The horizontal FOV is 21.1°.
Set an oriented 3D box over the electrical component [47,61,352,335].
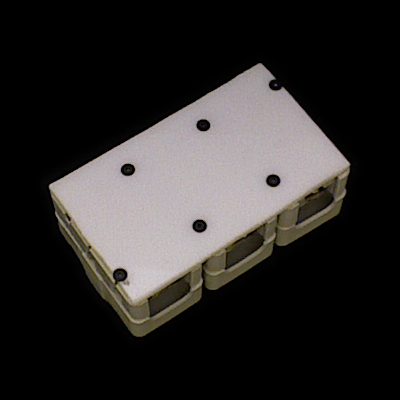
[{"bbox_3d":[0.000,0.000,0.633,0.150,0.089,0.062,-31,-23,-15],"label":"electrical component"}]
